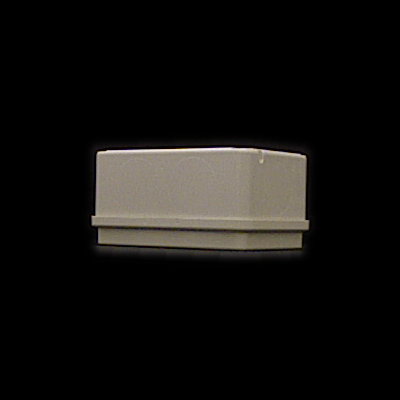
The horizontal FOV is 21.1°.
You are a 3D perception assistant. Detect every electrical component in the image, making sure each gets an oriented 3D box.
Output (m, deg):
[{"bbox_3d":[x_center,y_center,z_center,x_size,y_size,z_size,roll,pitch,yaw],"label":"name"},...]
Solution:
[{"bbox_3d":[0.000,0.000,0.649,0.113,0.057,0.078,1,0,35],"label":"electrical component"}]
